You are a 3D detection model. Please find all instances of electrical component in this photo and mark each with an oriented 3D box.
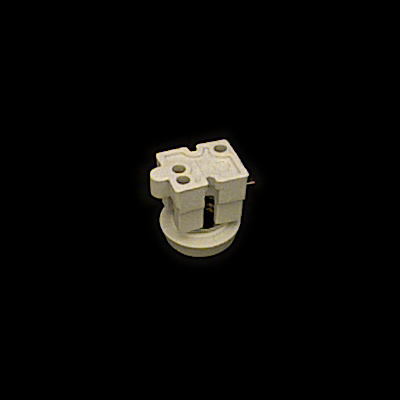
[{"bbox_3d":[0.000,0.000,0.639,0.067,0.056,0.048,-13,43,-16],"label":"electrical component"}]
